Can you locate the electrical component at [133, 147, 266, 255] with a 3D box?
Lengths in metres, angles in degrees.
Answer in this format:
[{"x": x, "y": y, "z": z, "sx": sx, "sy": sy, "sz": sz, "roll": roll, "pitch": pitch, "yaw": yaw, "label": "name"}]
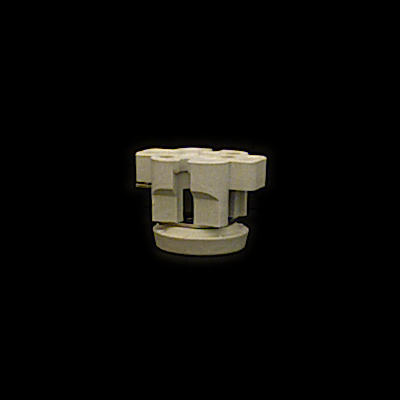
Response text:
[{"x": 0.000, "y": 0.000, "z": 0.650, "sx": 0.078, "sy": 0.057, "sz": 0.058, "roll": 4, "pitch": 13, "yaw": 22, "label": "electrical component"}]
